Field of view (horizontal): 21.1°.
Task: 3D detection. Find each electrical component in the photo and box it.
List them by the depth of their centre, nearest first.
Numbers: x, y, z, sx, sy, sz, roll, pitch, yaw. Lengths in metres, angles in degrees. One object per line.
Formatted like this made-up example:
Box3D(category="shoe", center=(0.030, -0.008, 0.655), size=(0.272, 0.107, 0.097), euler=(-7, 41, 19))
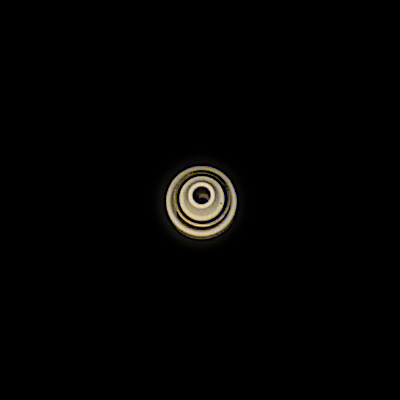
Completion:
Box3D(category="electrical component", center=(0.000, 0.000, 0.635), size=(0.043, 0.043, 0.062), euler=(0, -6, 0))
